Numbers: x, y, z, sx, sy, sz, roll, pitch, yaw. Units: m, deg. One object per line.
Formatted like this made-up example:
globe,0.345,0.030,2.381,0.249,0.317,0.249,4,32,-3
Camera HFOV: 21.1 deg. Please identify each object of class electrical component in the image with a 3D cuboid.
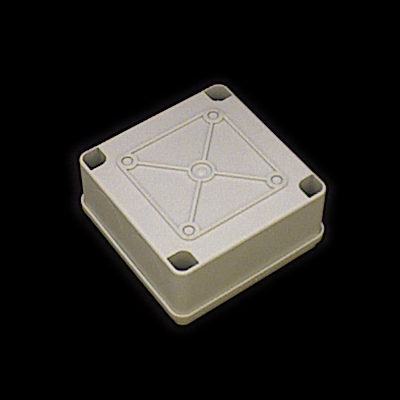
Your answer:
electrical component,0.000,0.000,0.631,0.109,0.108,0.056,-29,-32,-22
